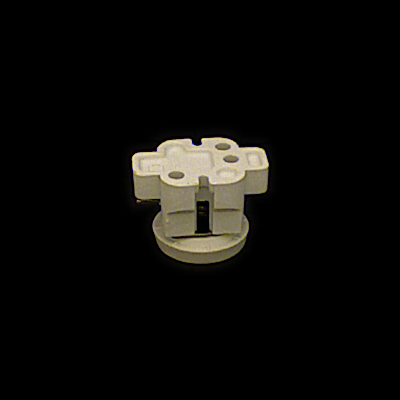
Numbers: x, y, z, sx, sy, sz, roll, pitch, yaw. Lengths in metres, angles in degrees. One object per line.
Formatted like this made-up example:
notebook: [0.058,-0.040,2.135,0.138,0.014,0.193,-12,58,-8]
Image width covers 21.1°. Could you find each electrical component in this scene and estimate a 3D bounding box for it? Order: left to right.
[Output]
electrical component: [0.000,0.000,0.641,0.079,0.057,0.057,-4,33,-6]
